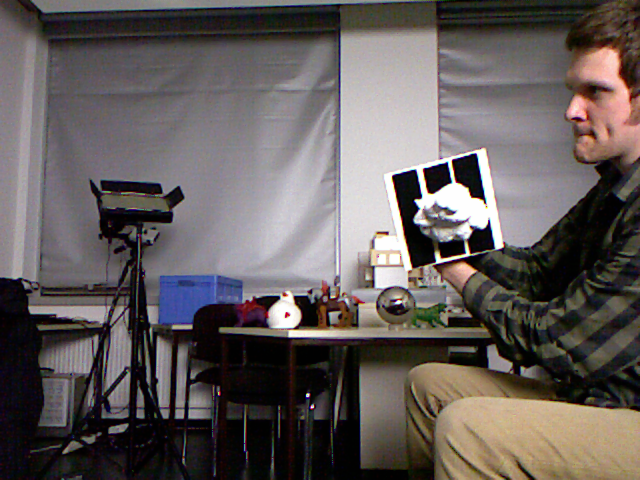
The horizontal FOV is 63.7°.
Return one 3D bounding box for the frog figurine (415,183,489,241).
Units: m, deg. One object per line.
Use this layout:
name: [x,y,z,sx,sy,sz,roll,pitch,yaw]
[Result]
frog figurine: [0.253,-0.049,0.975,0.138,0.122,0.161,7,11,0]
